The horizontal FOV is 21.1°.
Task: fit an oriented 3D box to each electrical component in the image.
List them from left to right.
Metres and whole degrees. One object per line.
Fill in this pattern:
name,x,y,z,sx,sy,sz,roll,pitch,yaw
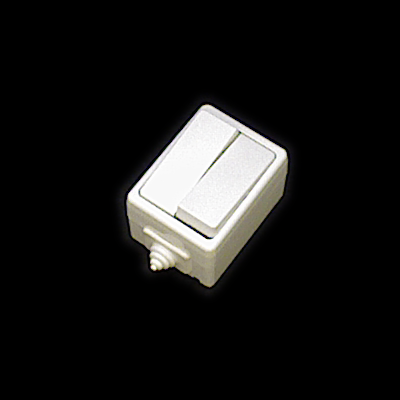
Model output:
electrical component,0.000,0.000,0.625,0.061,0.097,0.060,32,-23,16
